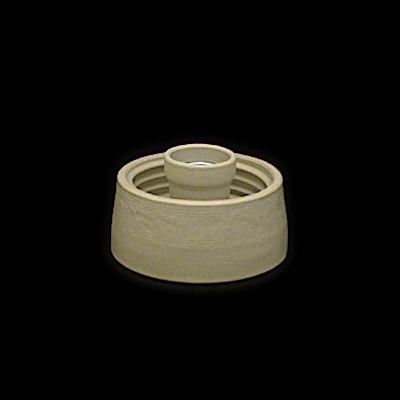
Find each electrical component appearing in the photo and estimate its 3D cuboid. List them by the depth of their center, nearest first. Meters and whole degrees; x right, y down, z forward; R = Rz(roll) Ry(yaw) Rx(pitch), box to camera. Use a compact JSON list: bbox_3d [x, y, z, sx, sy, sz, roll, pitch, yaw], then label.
[{"bbox_3d":[0.000,0.000,0.645,0.108,0.061,0.106,1,22,0],"label":"electrical component"}]
